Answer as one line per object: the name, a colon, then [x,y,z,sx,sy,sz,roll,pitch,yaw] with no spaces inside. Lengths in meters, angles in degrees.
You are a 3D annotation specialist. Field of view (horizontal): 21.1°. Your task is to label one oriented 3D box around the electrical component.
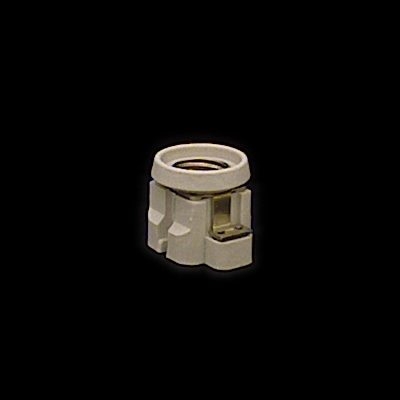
electrical component: [0.000,0.000,0.638,0.058,0.057,0.077,-13,25,-33]
